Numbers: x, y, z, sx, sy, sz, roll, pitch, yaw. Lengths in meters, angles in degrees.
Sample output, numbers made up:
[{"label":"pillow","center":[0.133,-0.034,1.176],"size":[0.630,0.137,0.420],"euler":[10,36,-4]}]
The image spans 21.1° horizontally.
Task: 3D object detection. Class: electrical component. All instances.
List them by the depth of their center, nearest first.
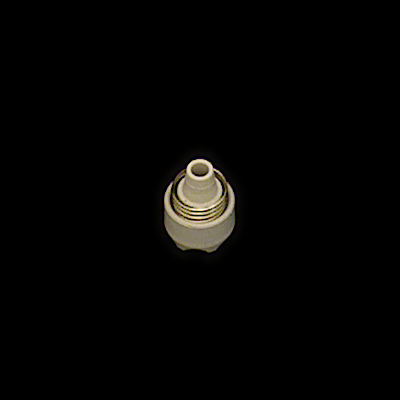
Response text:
[{"label":"electrical component","center":[0.000,0.000,0.634],"size":[0.043,0.043,0.062],"euler":[0,-36,0]}]
